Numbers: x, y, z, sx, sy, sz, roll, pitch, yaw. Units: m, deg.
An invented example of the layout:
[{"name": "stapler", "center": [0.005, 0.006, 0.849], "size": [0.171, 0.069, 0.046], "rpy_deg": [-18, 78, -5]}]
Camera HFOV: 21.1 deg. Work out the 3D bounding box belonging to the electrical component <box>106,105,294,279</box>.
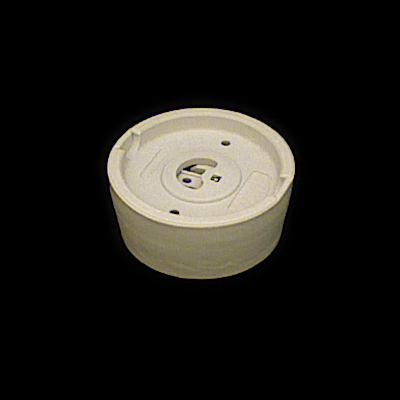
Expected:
[{"name": "electrical component", "center": [0.000, 0.000, 0.638], "size": [0.108, 0.061, 0.107], "rpy_deg": [0, 42, 0]}]
